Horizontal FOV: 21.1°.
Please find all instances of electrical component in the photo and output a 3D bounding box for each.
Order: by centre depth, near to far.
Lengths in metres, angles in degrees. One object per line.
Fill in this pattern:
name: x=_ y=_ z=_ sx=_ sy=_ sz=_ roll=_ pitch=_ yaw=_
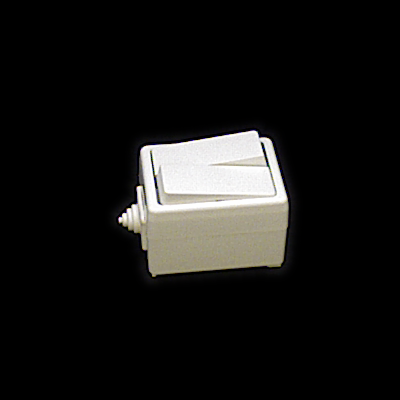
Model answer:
electrical component: x=0.000 y=0.000 z=0.630 sx=0.096 sy=0.061 sz=0.061 roll=-4 pitch=42 yaw=-6
